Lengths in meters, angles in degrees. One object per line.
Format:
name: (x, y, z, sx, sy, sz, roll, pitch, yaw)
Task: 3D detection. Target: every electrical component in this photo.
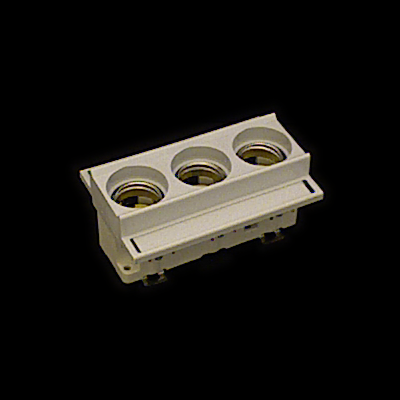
electrical component: (0.000, 0.000, 0.642, 0.121, 0.064, 0.077, -18, 47, -19)
